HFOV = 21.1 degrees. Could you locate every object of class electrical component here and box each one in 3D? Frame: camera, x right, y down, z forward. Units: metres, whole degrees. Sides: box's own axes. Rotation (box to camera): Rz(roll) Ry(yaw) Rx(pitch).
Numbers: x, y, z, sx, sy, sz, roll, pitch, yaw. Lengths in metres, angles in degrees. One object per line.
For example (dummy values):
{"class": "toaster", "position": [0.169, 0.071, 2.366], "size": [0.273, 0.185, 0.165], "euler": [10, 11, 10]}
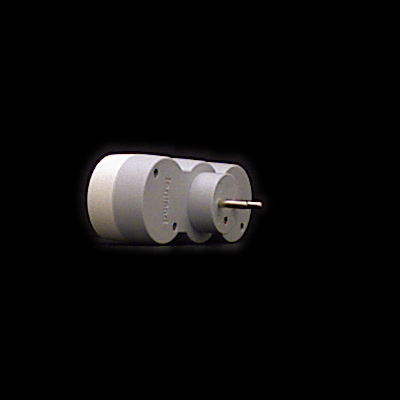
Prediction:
{"class": "electrical component", "position": [0.000, 0.000, 0.653], "size": [0.073, 0.052, 0.138], "euler": [4, 0, 29]}
